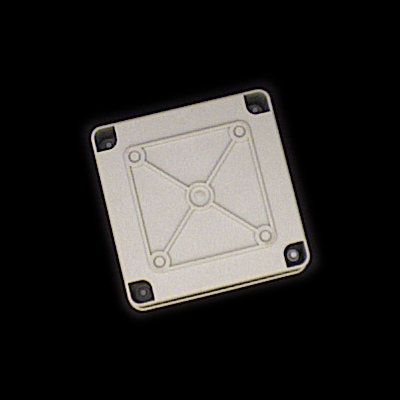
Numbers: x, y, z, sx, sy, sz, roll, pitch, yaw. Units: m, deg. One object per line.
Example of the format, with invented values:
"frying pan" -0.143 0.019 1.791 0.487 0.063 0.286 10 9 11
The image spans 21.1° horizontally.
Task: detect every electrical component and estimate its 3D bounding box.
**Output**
"electrical component" 0.000 0.000 0.629 0.109 0.109 0.056 -13 -6 -2
